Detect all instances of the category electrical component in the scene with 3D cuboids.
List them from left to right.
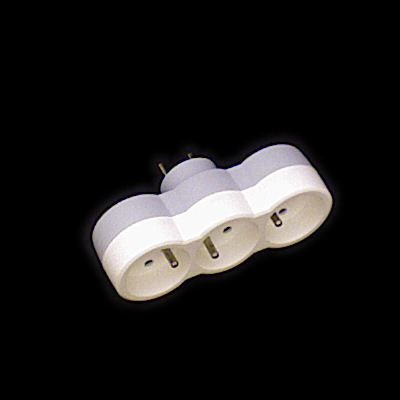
[{"bbox_3d":[0.000,0.000,0.630,0.138,0.073,0.052,-21,-36,-15],"label":"electrical component"}]
